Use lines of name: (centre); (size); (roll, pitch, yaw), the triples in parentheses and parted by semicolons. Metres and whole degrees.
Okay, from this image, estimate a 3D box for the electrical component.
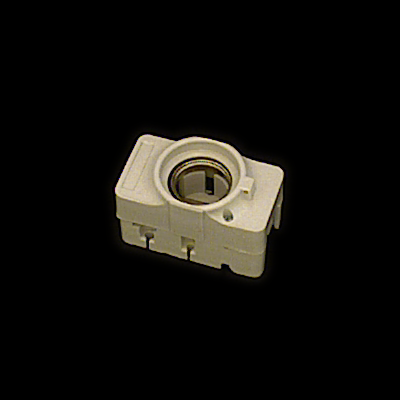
electrical component: (0.000, 0.000, 0.637); (0.089, 0.050, 0.056); (14, -36, 10)
